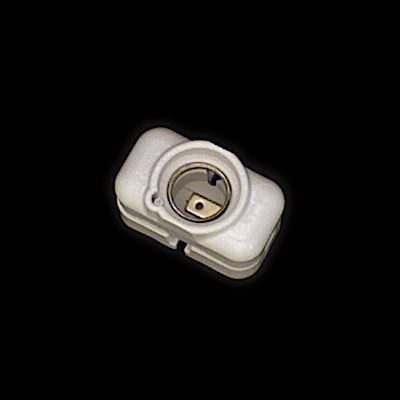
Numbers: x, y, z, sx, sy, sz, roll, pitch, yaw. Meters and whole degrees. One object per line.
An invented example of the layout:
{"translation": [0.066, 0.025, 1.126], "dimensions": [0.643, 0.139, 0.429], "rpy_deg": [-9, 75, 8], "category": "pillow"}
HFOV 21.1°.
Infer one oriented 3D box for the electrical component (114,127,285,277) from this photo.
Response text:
{"translation": [0.000, 0.000, 0.633], "dimensions": [0.095, 0.054, 0.059], "rpy_deg": [26, -14, 7], "category": "electrical component"}
